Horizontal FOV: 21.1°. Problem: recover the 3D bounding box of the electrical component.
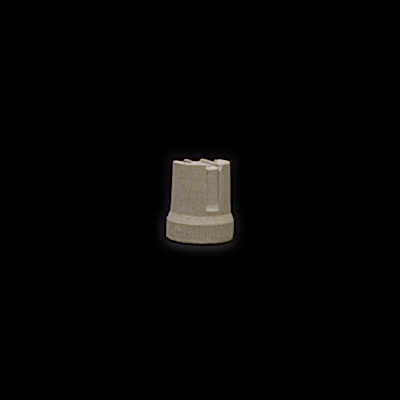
[{"bbox_3d":[0.000,0.000,0.647,0.040,0.046,0.040,2,11,0],"label":"electrical component"}]
